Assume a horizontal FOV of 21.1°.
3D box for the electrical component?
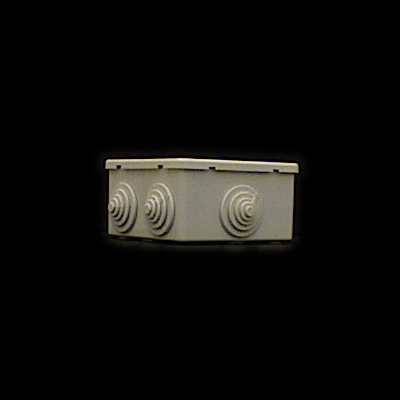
[{"bbox_3d":[0.000,0.000,0.657,0.100,0.048,0.099,1,1,-35],"label":"electrical component"}]
